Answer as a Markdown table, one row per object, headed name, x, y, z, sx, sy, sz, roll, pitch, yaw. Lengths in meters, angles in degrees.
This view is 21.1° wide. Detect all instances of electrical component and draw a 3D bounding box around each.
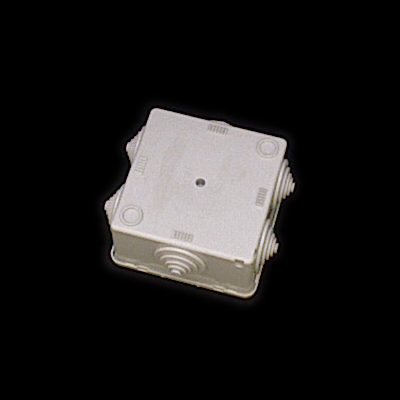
| name | x | y | z | sx | sy | sz | roll | pitch | yaw |
| --- | --- | --- | --- | --- | --- | --- | --- | --- | --- |
| electrical component | 0.000 | 0.000 | 0.631 | 0.099 | 0.100 | 0.048 | 14 | -26 | 7 |
